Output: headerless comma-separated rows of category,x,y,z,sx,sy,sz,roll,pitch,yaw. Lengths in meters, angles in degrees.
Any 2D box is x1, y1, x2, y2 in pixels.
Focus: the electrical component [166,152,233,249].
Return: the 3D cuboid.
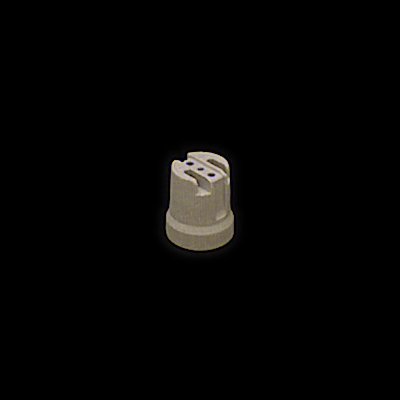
electrical component,0.000,0.000,0.637,0.040,0.046,0.040,0,32,0
